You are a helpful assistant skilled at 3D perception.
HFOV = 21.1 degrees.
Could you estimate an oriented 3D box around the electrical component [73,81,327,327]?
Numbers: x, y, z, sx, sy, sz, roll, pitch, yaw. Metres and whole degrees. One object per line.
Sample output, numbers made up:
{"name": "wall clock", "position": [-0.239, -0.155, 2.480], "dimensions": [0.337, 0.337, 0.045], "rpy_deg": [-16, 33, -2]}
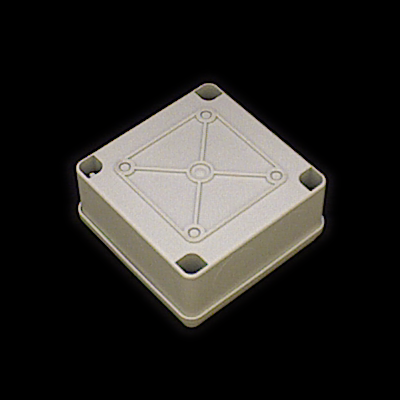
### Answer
{"name": "electrical component", "position": [0.000, 0.000, 0.628], "dimensions": [0.109, 0.056, 0.108], "rpy_deg": [-34, 60, -23]}
